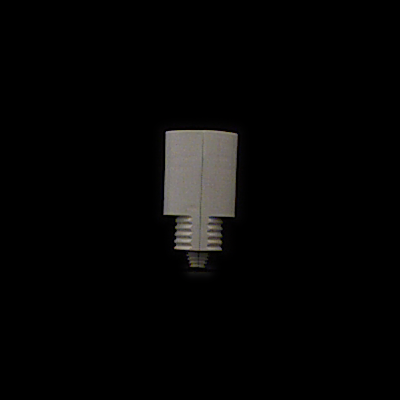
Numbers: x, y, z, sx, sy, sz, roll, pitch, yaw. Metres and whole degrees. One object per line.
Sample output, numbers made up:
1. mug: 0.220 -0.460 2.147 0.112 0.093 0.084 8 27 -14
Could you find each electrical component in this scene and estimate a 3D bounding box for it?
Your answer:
1. electrical component: 0.000 0.000 0.648 0.043 0.081 0.043 1 2 0
